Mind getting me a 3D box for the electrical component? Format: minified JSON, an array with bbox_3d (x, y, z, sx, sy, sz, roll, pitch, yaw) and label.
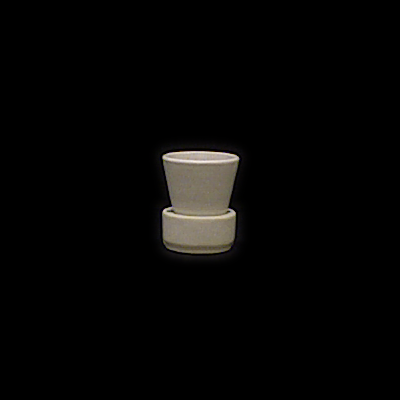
[{"bbox_3d":[0.000,0.000,0.644,0.045,0.055,0.044,1,12,0],"label":"electrical component"}]
